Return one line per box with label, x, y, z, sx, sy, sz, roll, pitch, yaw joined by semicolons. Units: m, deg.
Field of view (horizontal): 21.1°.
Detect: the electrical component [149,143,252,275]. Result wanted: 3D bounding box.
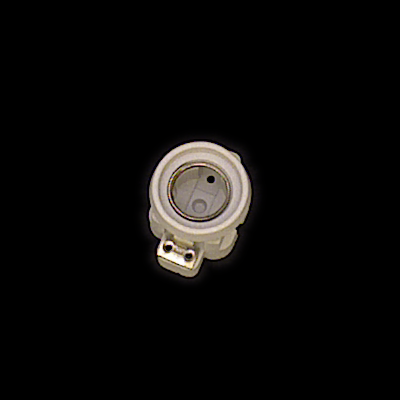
electrical component;0.000;0.000;0.628;0.058;0.079;0.056;22;-15;6
